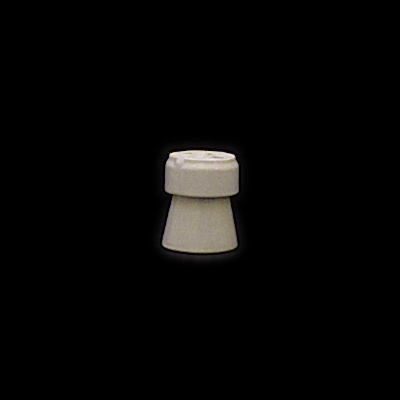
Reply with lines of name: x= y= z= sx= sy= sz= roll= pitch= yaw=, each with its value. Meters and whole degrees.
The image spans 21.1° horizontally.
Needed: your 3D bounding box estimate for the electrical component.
electrical component: x=0.000 y=0.000 z=0.644 sx=0.045 sy=0.055 sz=0.044 roll=1 pitch=12 yaw=0
